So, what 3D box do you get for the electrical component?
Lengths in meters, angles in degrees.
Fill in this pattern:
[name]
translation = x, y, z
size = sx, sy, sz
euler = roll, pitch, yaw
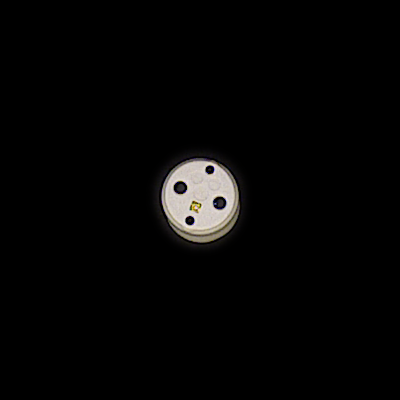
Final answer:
[electrical component]
translation = 0.000, 0.000, 0.630
size = 0.045, 0.045, 0.055
euler = 0, -7, 1
